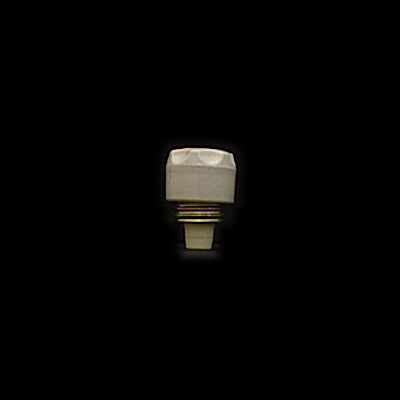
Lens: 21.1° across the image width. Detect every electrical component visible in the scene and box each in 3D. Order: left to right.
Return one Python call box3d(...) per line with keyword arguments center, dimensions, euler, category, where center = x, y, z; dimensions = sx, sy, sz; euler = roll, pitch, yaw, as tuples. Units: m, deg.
box3d(center=(0.000, 0.000, 0.657), dimensions=(0.043, 0.062, 0.043), euler=(2, 1, 0), category="electrical component")
